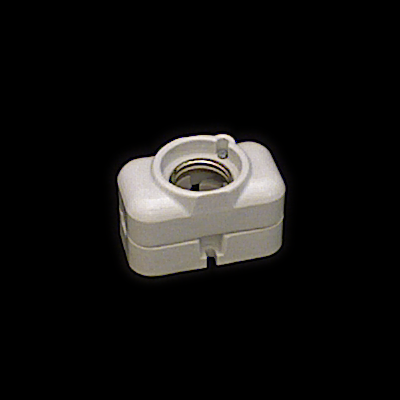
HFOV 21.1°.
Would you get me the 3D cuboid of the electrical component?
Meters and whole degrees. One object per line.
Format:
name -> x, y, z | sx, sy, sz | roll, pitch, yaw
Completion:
electrical component -> 0.000, 0.000, 0.639 | 0.095, 0.060, 0.053 | -10, 44, -12
